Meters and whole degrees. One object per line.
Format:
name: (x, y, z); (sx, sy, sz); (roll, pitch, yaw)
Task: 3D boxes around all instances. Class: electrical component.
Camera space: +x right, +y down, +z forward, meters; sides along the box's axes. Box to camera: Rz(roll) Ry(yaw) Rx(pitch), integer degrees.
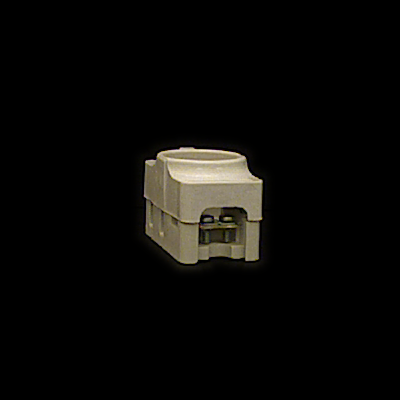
electrical component: (0.000, 0.000, 0.652); (0.050, 0.056, 0.088); (-3, 12, -18)
